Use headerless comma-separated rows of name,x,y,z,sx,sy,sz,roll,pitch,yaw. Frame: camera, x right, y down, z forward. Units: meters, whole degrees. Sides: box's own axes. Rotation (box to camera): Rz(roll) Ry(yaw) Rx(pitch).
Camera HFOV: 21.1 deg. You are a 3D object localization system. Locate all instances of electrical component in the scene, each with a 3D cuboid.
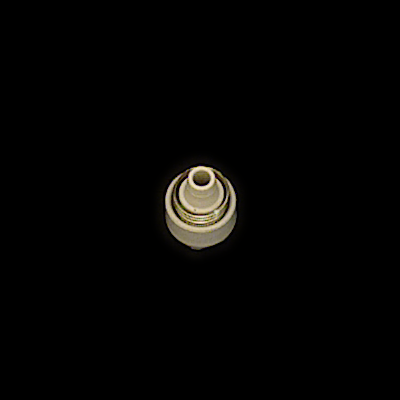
electrical component,0.000,0.000,0.633,0.043,0.043,0.062,0,-25,0
